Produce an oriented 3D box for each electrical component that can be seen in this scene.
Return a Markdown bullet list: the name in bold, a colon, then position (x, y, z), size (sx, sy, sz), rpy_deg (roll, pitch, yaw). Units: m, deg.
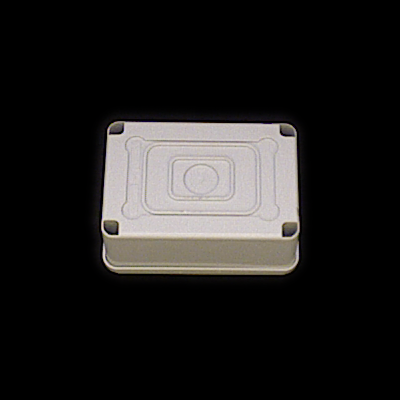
- **electrical component**: position (0.000, 0.000, 0.628), size (0.113, 0.078, 0.057), rpy_deg (1, -27, 1)
